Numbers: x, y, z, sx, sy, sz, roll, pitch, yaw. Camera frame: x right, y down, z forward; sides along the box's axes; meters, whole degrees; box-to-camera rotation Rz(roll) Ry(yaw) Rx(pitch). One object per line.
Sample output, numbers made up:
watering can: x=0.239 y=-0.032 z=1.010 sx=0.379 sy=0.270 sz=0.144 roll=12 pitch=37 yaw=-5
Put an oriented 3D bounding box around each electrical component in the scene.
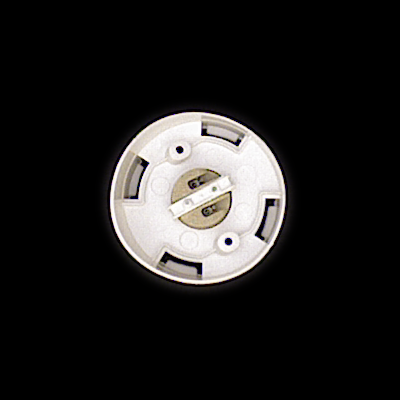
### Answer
electrical component: x=0.000 y=0.000 z=0.624 sx=0.099 sy=0.099 sz=0.064 roll=0 pitch=-6 yaw=0
